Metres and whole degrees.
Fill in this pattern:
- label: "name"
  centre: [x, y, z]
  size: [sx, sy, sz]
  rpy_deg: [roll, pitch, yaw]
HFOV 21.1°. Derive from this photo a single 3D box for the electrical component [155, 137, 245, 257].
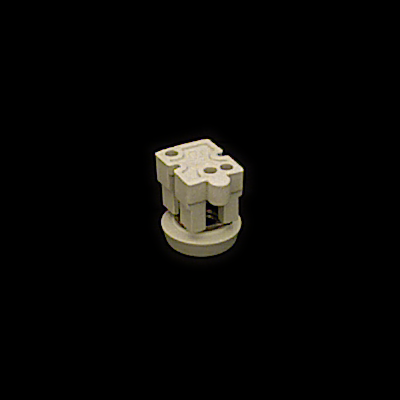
- label: "electrical component"
  centre: [0.000, 0.000, 0.643]
  size: [0.048, 0.056, 0.065]
  rpy_deg: [-16, 35, -23]
